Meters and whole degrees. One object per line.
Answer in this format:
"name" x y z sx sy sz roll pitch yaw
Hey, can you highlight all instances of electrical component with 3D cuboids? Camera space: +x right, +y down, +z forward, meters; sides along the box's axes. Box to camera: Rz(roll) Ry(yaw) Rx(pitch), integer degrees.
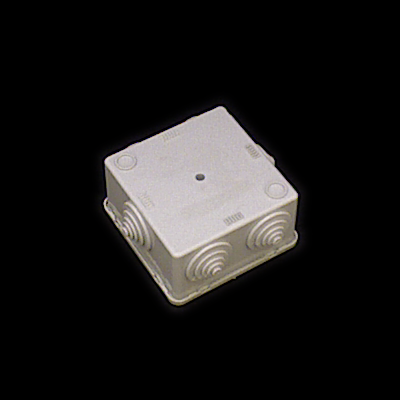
"electrical component" 0.000 0.000 0.633 0.100 0.099 0.049 -26 -32 -19
